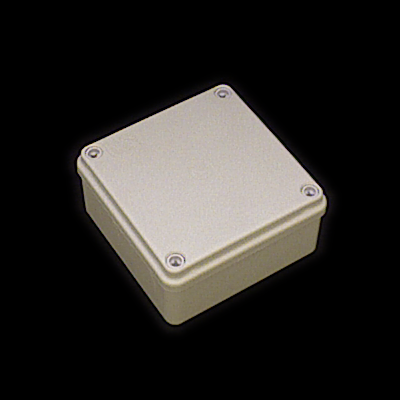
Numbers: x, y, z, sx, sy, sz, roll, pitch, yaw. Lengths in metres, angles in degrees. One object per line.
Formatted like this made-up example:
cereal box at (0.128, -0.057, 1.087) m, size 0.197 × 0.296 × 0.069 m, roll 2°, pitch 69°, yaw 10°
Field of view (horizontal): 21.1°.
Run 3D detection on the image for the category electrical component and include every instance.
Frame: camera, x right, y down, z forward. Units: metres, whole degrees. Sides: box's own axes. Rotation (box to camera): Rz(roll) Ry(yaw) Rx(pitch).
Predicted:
electrical component at (0.000, 0.000, 0.630) m, size 0.109 × 0.108 × 0.056 m, roll -27°, pitch -32°, yaw -20°
